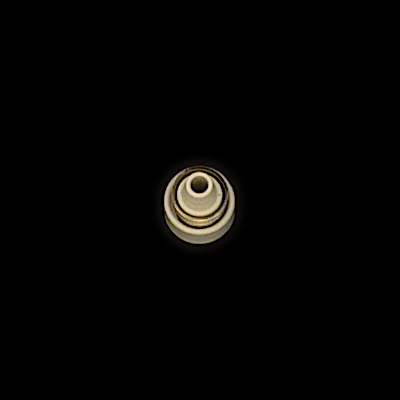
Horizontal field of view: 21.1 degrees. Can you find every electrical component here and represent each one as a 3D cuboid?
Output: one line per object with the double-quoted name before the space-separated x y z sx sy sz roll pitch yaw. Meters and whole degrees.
"electrical component" 0.000 0.000 0.634 0.043 0.043 0.061 0 -17 0
